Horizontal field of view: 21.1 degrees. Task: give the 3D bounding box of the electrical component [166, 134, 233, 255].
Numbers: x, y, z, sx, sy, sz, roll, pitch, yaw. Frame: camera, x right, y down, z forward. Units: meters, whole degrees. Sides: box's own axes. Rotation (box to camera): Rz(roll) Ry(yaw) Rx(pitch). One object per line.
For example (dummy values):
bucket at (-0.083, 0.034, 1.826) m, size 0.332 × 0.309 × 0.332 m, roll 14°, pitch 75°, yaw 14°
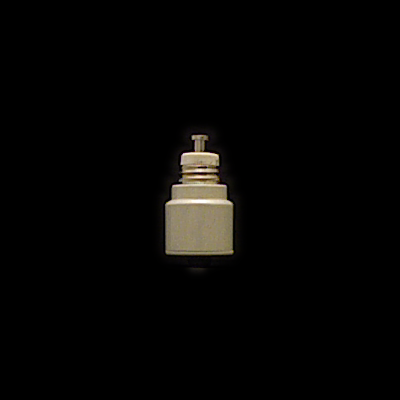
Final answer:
electrical component at (0.000, 0.000, 0.649) m, size 0.040 × 0.078 × 0.040 m, roll 0°, pitch 2°, yaw 0°
